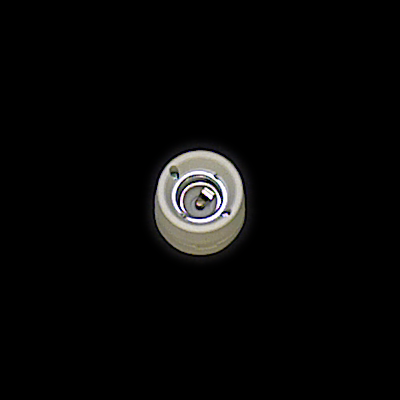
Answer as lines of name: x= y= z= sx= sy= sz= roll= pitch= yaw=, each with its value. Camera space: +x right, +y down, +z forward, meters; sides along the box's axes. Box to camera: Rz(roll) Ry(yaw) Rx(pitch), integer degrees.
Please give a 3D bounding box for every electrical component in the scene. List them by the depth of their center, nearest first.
electrical component: x=0.000 y=0.000 z=0.632 sx=0.055 sy=0.056 sz=0.047 roll=0 pitch=-16 yaw=-1
